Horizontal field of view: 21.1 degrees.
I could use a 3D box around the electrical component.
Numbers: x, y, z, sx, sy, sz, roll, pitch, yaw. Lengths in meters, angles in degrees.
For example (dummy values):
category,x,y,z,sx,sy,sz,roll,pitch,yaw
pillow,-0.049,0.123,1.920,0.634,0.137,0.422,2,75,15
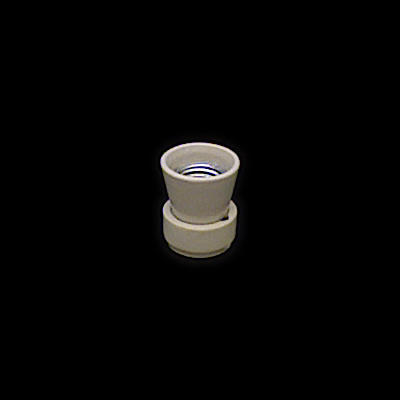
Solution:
category,x,y,z,sx,sy,sz,roll,pitch,yaw
electrical component,0.000,0.000,0.633,0.045,0.056,0.044,0,32,0
